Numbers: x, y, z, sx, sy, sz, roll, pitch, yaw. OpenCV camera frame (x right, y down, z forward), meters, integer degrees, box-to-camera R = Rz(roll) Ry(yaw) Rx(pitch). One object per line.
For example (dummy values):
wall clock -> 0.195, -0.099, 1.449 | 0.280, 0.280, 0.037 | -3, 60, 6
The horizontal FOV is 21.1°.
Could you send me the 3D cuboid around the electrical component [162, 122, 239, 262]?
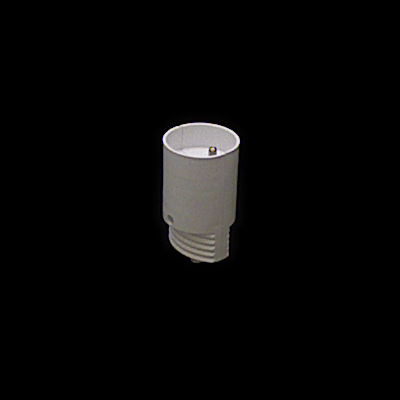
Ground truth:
electrical component -> 0.000, 0.000, 0.628 | 0.043, 0.082, 0.042 | 1, 32, 0
